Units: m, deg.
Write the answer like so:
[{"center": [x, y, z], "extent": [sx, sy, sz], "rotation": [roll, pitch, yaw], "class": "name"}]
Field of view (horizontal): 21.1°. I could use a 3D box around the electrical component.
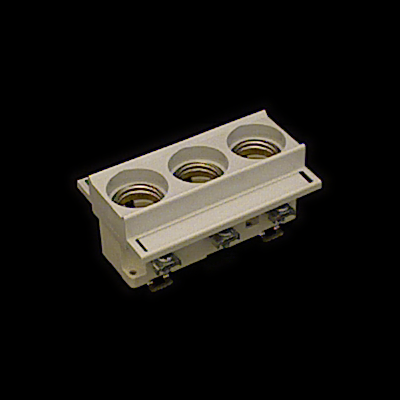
[{"center": [0.000, 0.000, 0.642], "extent": [0.121, 0.064, 0.077], "rotation": [-22, 46, -23], "class": "electrical component"}]
